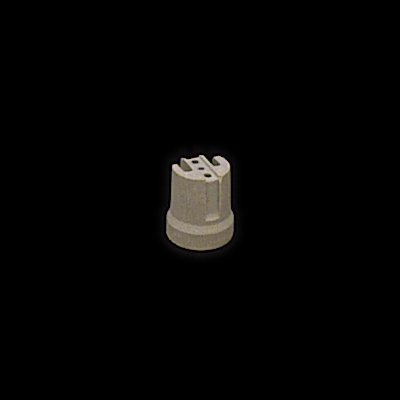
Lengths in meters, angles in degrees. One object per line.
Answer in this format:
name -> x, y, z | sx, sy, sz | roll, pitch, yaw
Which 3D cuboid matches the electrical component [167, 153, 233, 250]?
electrical component -> 0.000, 0.000, 0.639 | 0.040, 0.046, 0.040 | 1, 32, -1
